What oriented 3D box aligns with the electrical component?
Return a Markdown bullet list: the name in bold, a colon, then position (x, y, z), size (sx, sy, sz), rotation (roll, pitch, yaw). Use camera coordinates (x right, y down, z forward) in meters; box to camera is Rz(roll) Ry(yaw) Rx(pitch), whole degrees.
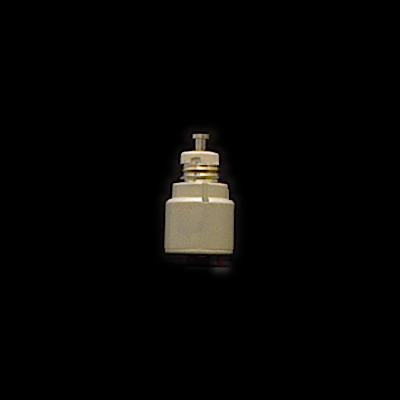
- **electrical component**: position (0.000, 0.000, 0.648), size (0.040, 0.078, 0.040), rotation (1, 0, 0)
